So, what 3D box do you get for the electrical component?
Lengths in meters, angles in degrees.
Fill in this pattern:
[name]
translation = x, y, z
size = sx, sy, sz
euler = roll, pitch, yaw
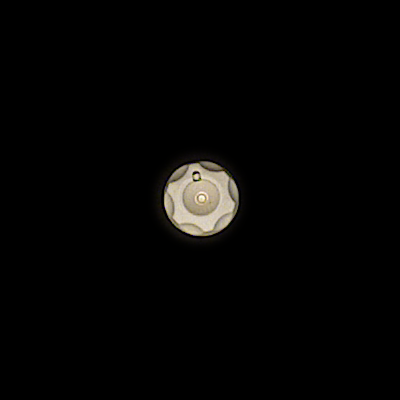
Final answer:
[electrical component]
translation = 0.000, 0.000, 0.635
size = 0.043, 0.043, 0.062
euler = 0, -4, 1
